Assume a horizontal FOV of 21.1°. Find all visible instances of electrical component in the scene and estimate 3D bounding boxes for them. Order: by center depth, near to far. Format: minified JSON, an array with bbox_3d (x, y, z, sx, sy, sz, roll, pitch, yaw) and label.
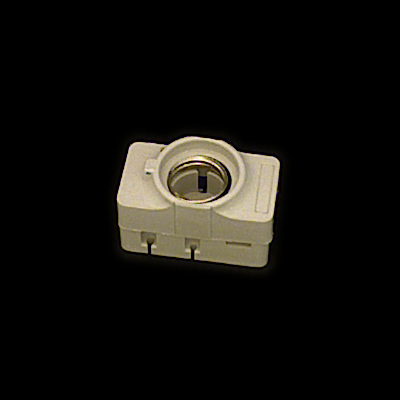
[{"bbox_3d":[0.000,0.000,0.638,0.089,0.050,0.056,6,-37,4],"label":"electrical component"}]
